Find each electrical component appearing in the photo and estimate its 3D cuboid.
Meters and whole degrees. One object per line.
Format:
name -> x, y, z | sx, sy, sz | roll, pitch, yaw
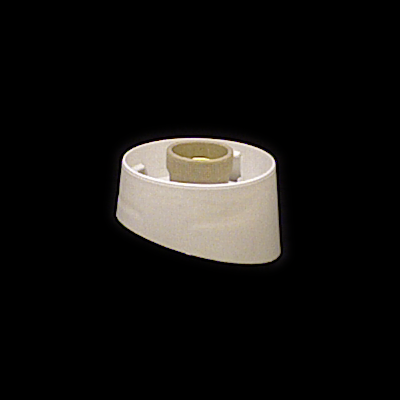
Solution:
electrical component -> 0.000, 0.000, 0.637 | 0.099, 0.065, 0.097 | 1, 20, 0
